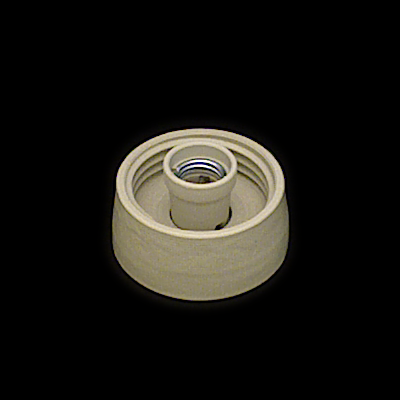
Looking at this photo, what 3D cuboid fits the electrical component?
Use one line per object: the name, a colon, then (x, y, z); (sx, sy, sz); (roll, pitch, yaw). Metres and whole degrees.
electrical component: (0.000, 0.000, 0.637); (0.108, 0.061, 0.107); (1, 43, 0)
